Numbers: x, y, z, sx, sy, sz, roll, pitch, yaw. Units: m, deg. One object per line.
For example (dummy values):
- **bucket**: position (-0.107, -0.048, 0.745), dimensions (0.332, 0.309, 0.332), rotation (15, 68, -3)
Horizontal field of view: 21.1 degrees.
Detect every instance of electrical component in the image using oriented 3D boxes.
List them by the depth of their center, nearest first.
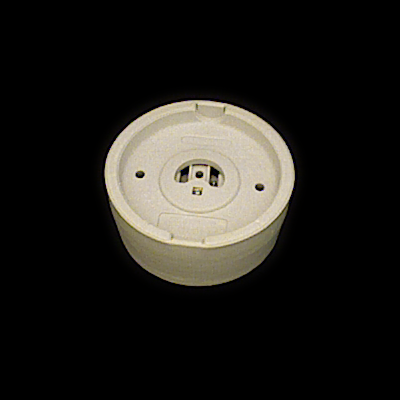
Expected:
- **electrical component**: position (0.000, 0.000, 0.633), dimensions (0.108, 0.107, 0.060), rotation (0, -37, -1)
